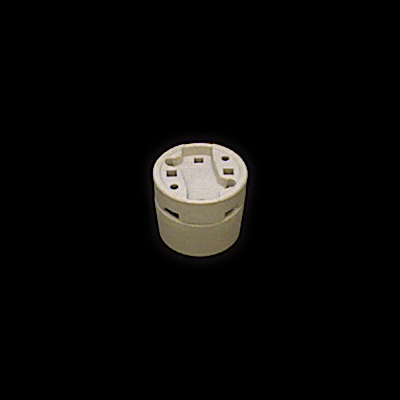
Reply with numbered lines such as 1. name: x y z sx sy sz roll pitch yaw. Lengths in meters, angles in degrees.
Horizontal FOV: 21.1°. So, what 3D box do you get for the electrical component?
1. electrical component: 0.000 0.000 0.637 0.055 0.047 0.055 1 42 0
